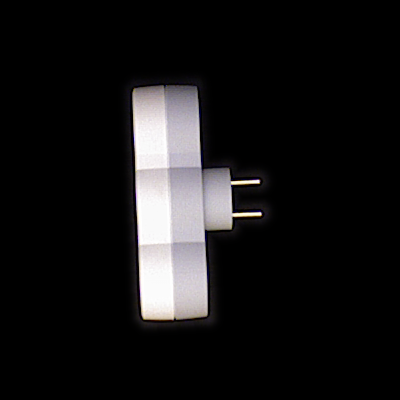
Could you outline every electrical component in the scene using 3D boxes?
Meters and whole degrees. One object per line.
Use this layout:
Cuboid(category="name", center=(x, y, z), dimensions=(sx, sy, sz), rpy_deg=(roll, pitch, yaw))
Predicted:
Cuboid(category="electrical component", center=(0.000, 0.000, 0.632), dimensions=(0.074, 0.138, 0.052), rpy_deg=(-3, -8, -2))
